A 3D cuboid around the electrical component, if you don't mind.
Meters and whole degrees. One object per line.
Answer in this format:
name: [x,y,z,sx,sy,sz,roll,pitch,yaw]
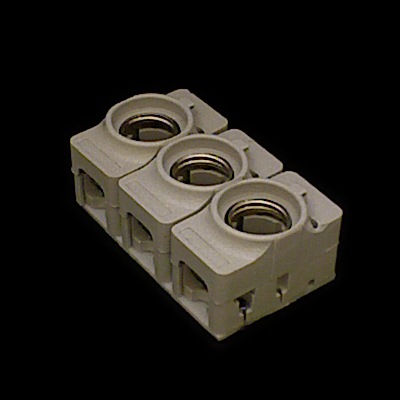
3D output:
electrical component: [0.000,0.000,0.637,0.089,0.063,0.148,-27,49,-28]
